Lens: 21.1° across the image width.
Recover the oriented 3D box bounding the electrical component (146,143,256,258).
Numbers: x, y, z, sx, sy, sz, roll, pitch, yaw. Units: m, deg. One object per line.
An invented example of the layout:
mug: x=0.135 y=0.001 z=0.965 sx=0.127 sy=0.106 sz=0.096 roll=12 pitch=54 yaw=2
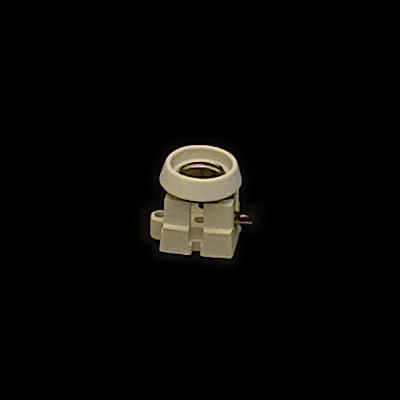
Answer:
electrical component: x=0.000 y=0.000 z=0.644 sx=0.066 sy=0.056 sz=0.048 roll=5 pitch=34 yaw=6
